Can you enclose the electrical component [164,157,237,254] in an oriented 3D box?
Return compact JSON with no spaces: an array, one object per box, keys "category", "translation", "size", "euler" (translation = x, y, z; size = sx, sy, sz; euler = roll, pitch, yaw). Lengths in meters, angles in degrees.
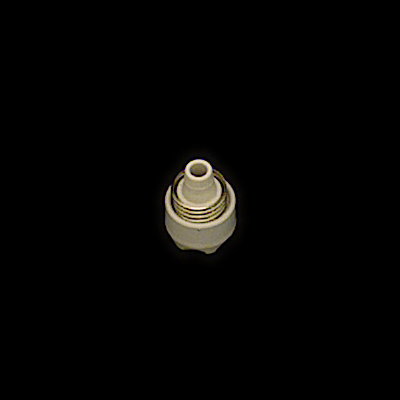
[{"category":"electrical component","translation":[0.000,0.000,0.635],"size":[0.043,0.043,0.062],"euler":[0,-36,1]}]
